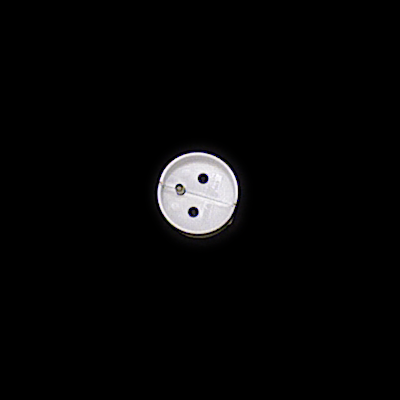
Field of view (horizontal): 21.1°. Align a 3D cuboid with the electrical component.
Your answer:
[{"bbox_3d":[0.000,0.000,0.615,0.043,0.043,0.080,0,-7,1],"label":"electrical component"}]
